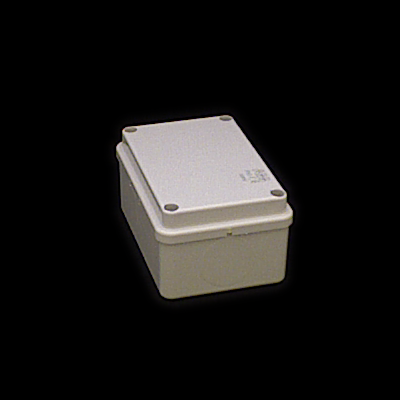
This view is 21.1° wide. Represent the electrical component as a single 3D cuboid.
[{"bbox_3d":[0.000,0.000,0.635,0.078,0.058,0.111,-8,32,-15],"label":"electrical component"}]
